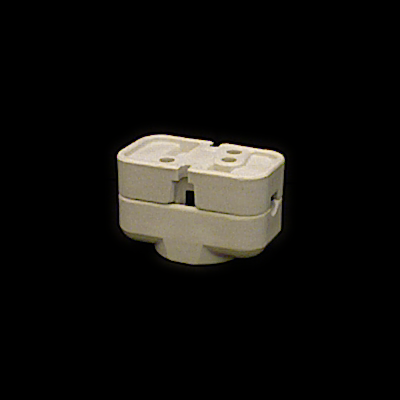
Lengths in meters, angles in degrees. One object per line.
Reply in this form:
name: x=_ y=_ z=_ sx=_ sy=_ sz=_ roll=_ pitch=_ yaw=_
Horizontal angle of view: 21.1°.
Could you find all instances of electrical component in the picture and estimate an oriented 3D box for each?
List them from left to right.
electrical component: x=0.000 y=0.000 z=0.648 sx=0.094 sy=0.060 sz=0.053 roll=9 pitch=23 yaw=20
